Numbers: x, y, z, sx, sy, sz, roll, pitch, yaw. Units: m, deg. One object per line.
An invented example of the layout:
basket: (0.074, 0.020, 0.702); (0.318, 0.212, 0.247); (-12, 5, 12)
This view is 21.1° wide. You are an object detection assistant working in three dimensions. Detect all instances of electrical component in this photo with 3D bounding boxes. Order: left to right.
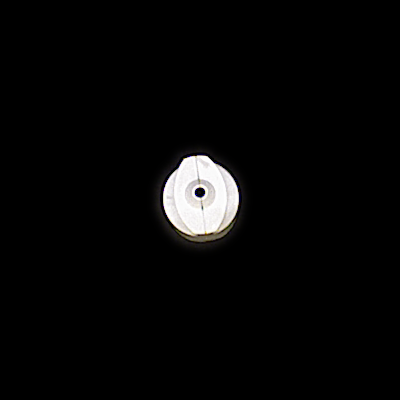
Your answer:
electrical component: (0.000, 0.000, 0.616); (0.043, 0.043, 0.080); (0, -6, 1)
